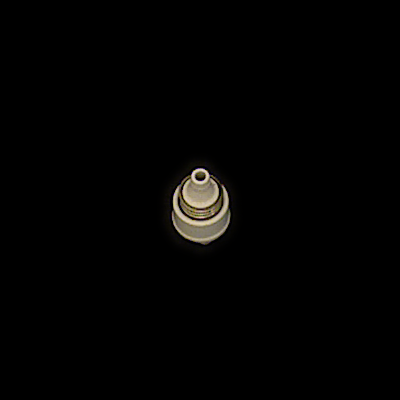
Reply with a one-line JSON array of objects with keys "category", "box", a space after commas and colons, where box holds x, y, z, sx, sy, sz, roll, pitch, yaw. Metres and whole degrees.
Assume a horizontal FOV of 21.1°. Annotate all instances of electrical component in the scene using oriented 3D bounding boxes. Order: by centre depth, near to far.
[{"category": "electrical component", "box": [0.000, 0.000, 0.637, 0.035, 0.035, 0.061, 0, -28, 0]}]
